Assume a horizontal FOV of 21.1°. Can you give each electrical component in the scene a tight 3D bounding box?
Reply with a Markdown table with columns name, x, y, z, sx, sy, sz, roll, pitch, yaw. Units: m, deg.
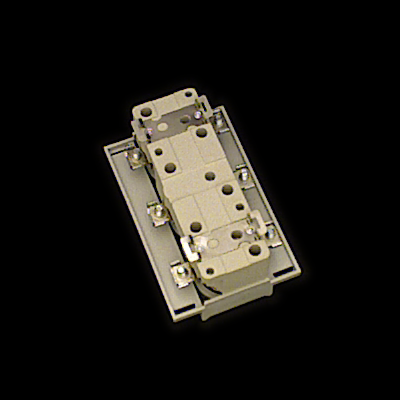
| name | x | y | z | sx | sy | sz | roll | pitch | yaw |
| --- | --- | --- | --- | --- | --- | --- | --- | --- | --- |
| electrical component | 0.000 | 0.000 | 0.632 | 0.079 | 0.121 | 0.063 | -20 | -25 | -9 |
